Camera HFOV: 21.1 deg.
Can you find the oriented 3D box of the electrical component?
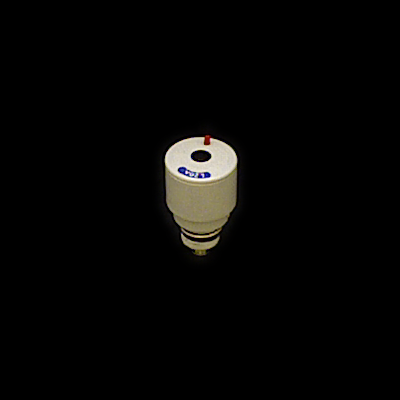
[{"bbox_3d":[0.000,0.000,0.626,0.040,0.079,0.039,0,41,0],"label":"electrical component"}]
